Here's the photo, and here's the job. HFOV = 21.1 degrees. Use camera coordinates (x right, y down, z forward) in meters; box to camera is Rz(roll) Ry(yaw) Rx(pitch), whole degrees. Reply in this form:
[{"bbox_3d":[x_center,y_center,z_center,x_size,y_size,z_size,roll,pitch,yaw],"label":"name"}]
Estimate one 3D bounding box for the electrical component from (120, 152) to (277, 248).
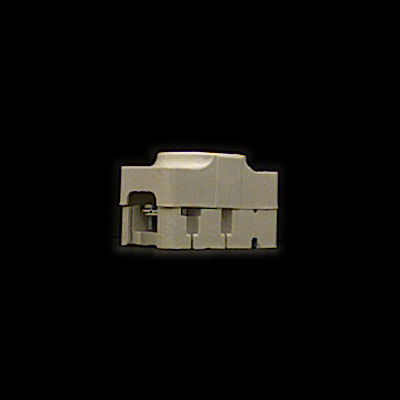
[{"bbox_3d":[0.000,0.000,0.656,0.090,0.056,0.050,0,2,-41],"label":"electrical component"}]
